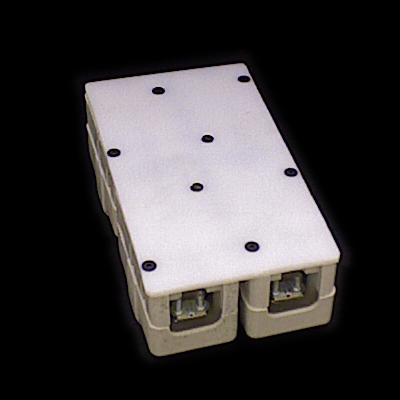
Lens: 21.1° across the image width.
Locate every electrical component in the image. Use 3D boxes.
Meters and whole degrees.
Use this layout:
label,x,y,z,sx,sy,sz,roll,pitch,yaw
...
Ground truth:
label,x,y,z,sx,sy,sz,roll,pitch,yaw
electrical component,0.000,0.000,0.629,0.106,0.061,0.184,-9,43,-11
